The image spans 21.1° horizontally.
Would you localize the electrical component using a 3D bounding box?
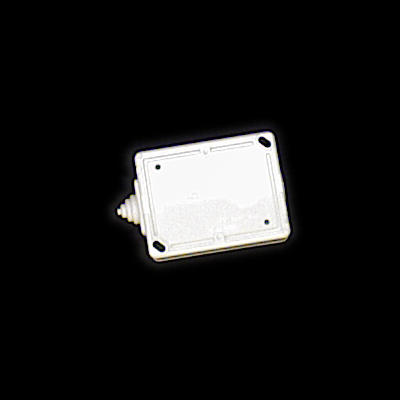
[{"bbox_3d":[0.000,0.000,0.626,0.096,0.062,0.061,-9,-6,-1],"label":"electrical component"}]
